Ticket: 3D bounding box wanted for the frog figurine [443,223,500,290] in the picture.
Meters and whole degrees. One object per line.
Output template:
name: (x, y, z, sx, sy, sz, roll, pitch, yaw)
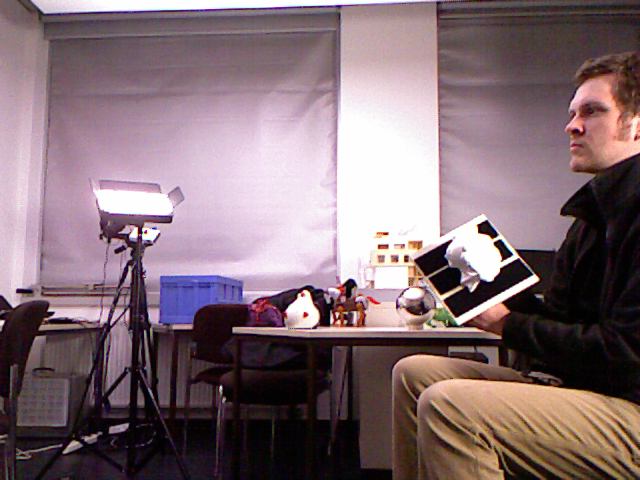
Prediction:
frog figurine: (0.331, 0.024, 1.118, 0.123, 0.141, 0.157, -11, -28, 6)
